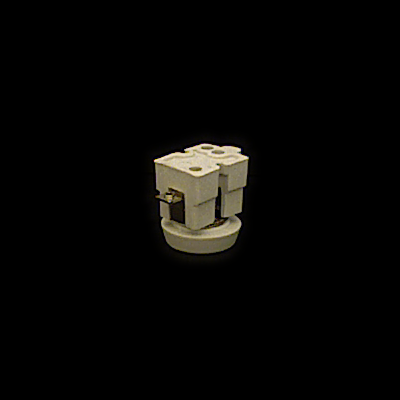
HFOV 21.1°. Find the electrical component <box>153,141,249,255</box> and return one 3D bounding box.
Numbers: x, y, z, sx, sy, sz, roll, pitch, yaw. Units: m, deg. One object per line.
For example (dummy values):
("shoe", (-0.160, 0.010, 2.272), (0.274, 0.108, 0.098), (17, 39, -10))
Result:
("electrical component", (0.000, 0.000, 0.648), (0.047, 0.056, 0.067), (22, 31, 40))
